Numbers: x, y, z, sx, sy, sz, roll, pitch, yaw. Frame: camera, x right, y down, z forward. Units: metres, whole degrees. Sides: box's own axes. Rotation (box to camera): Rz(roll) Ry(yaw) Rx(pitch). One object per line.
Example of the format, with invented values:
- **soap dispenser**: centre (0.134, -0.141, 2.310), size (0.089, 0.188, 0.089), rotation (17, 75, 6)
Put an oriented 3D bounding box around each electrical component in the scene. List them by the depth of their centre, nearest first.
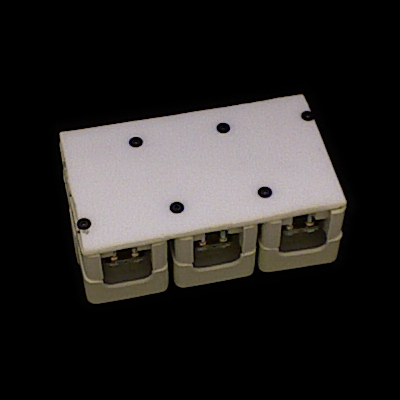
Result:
- **electrical component**: centre (0.000, 0.000, 0.635), size (0.150, 0.088, 0.063), rotation (-9, -37, -8)
